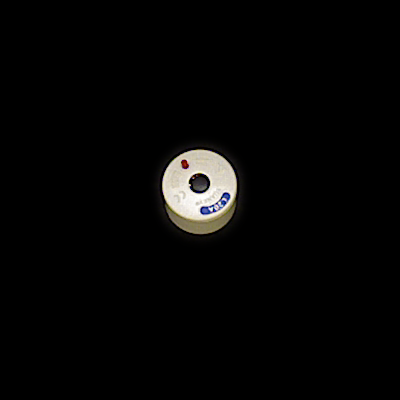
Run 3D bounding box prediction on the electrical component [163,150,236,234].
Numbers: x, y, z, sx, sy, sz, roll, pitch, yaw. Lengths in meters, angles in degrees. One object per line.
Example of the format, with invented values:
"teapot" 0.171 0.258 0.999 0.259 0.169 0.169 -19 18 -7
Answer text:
"electrical component" 0.000 0.000 0.617 0.040 0.040 0.078 0 -17 1
